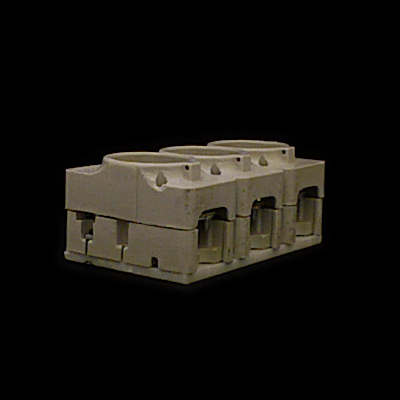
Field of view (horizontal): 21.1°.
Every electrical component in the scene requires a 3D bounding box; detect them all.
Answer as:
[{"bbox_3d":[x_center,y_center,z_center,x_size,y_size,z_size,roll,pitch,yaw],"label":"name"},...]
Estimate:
[{"bbox_3d":[0.000,0.000,0.650,0.089,0.062,0.149,9,13,34],"label":"electrical component"}]
